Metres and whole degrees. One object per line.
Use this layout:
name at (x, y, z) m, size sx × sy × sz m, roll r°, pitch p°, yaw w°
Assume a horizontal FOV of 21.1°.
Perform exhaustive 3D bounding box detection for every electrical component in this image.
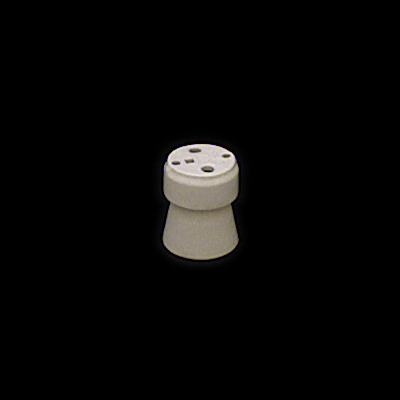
electrical component at (0.000, 0.000, 0.636) m, size 0.045 × 0.056 × 0.044 m, roll 1°, pitch 31°, yaw 0°
